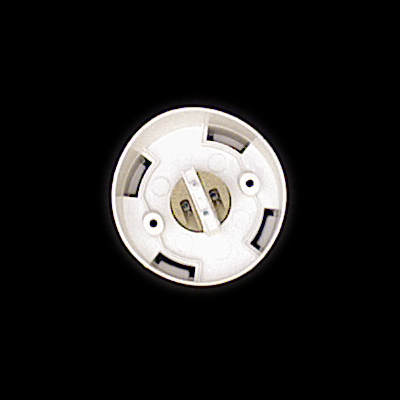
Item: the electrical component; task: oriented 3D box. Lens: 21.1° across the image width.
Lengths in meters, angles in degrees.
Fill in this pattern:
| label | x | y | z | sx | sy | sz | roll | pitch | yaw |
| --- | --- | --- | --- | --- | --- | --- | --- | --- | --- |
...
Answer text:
| label | x | y | z | sx | sy | sz | roll | pitch | yaw |
| --- | --- | --- | --- | --- | --- | --- | --- | --- | --- |
| electrical component | 0.000 | 0.000 | 0.624 | 0.099 | 0.099 | 0.064 | 0 | -7 | 1 |
